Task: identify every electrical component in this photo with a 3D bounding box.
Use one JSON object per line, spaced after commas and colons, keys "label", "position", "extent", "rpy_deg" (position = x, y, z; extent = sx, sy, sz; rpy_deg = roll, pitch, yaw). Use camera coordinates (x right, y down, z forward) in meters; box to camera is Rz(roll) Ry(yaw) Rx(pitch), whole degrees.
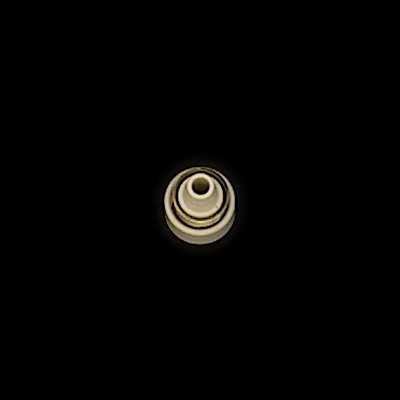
{"label": "electrical component", "position": [0.000, 0.000, 0.634], "extent": [0.043, 0.043, 0.061], "rpy_deg": [0, -16, -1]}
